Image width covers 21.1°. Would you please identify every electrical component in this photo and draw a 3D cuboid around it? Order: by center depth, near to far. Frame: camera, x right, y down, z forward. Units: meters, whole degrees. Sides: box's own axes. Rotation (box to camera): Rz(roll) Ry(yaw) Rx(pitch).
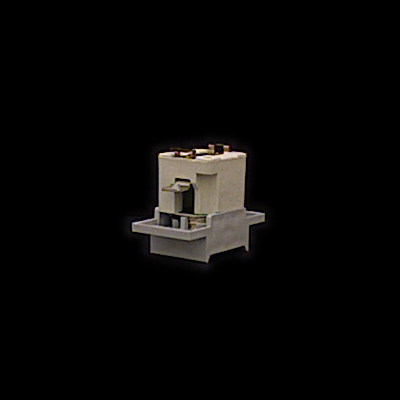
[{"bbox_3d":[0.000,0.000,0.645,0.042,0.064,0.080,9,13,34],"label":"electrical component"}]
